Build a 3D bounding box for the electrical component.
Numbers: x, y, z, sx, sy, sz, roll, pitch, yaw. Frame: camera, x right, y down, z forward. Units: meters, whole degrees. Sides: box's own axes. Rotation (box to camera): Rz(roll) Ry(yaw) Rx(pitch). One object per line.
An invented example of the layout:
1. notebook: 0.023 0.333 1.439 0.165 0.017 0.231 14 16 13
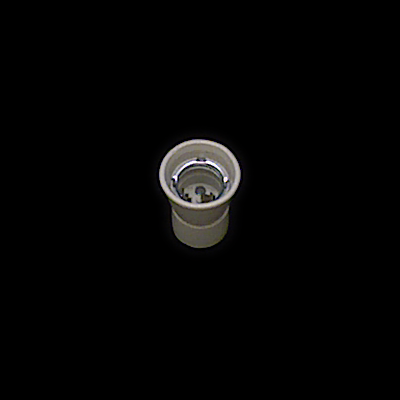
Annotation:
1. electrical component: 0.000 0.000 0.626 0.044 0.044 0.065 0 -28 0
